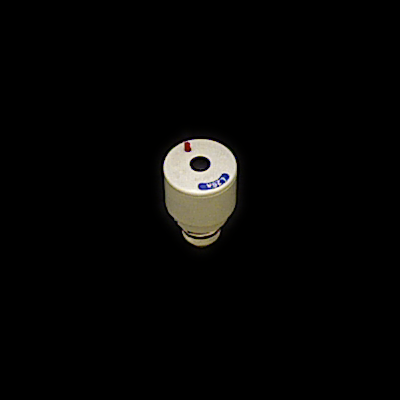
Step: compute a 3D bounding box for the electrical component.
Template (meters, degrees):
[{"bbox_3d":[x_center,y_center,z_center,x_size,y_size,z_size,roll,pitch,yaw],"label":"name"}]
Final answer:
[{"bbox_3d":[0.000,0.000,0.622,0.040,0.040,0.079,0,-38,0],"label":"electrical component"}]
